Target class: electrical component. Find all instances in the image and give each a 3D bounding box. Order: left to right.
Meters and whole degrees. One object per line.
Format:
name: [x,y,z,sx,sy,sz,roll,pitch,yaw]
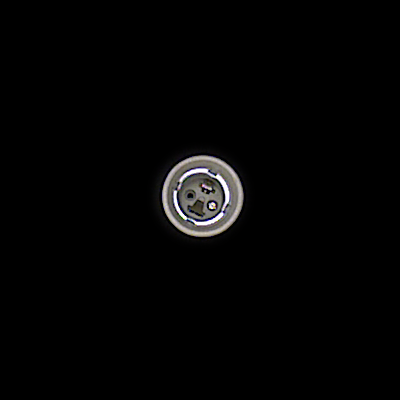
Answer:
electrical component: [0.000,0.000,0.625,0.044,0.044,0.065,0,-6,-1]
